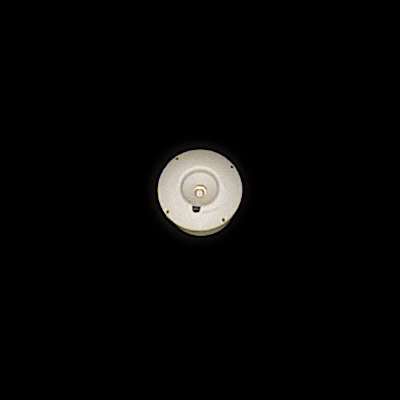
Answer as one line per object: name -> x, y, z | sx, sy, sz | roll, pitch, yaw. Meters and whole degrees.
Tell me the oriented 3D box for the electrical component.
electrical component -> 0.000, 0.000, 0.633 | 0.048, 0.048, 0.061 | 0, -16, 1
